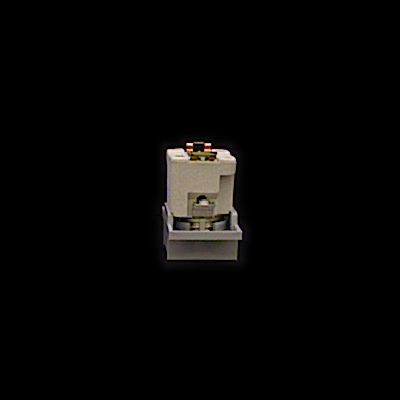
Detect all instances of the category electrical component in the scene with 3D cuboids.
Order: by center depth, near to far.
[{"bbox_3d":[0.000,0.000,0.643,0.042,0.064,0.080,0,10,-6],"label":"electrical component"}]
